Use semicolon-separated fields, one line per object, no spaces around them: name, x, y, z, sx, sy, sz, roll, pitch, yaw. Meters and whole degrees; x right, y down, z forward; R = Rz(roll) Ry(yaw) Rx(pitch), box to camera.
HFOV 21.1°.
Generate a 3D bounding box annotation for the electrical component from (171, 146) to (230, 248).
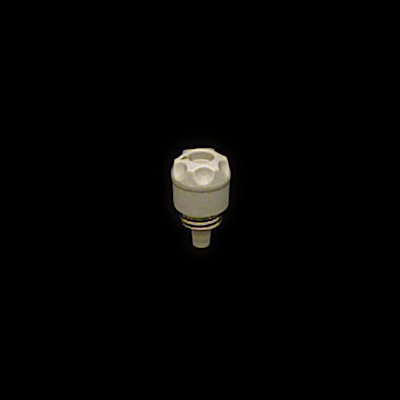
electrical component;0.000;0.000;0.642;0.035;0.062;0.034;1;32;0
